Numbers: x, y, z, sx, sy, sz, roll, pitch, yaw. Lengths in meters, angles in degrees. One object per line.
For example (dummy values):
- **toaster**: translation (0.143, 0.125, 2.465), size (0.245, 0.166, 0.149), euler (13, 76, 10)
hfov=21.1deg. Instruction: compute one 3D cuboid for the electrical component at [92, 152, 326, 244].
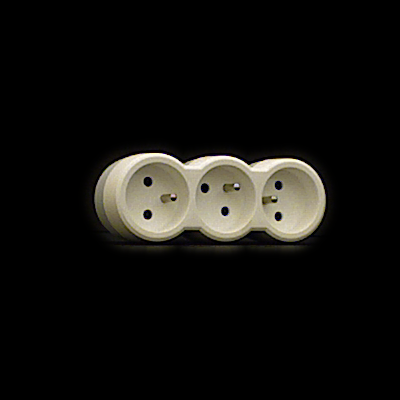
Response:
- **electrical component**: translation (0.000, 0.000, 0.660), size (0.139, 0.052, 0.073), euler (1, 0, -25)
